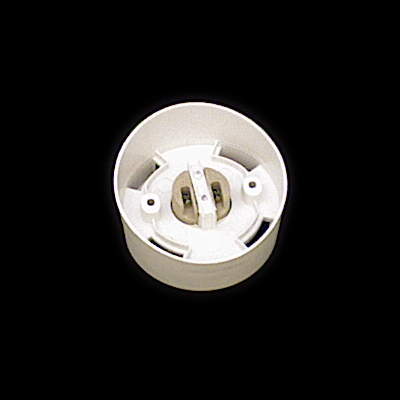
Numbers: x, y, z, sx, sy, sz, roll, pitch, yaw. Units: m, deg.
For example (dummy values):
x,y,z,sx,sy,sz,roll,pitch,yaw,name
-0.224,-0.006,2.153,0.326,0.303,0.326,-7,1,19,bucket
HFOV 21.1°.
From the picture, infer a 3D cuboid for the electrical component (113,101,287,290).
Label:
x,y,z,sx,sy,sz,roll,pitch,yaw,name
0.000,0.000,0.626,0.099,0.098,0.064,0,-38,0,electrical component
